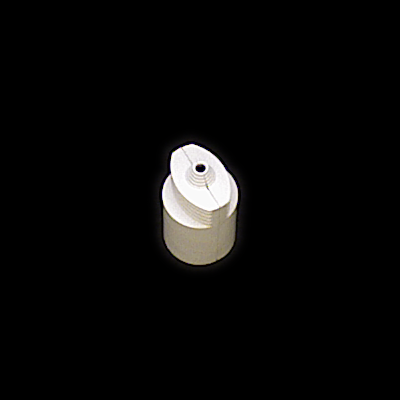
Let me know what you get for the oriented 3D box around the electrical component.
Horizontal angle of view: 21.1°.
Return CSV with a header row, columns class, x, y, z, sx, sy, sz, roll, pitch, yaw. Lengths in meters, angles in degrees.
class,x,y,z,sx,sy,sz,roll,pitch,yaw
electrical component,0.000,0.000,0.617,0.043,0.043,0.081,0,-27,0
